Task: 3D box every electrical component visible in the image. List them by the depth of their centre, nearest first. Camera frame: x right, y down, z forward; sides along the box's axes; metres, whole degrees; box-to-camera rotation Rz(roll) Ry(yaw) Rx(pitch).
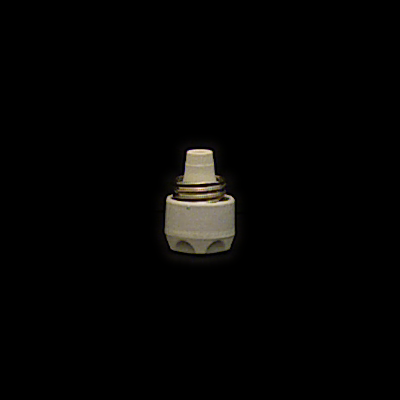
[{"bbox_3d":[0.000,0.000,0.651,0.043,0.062,0.043,0,12,1],"label":"electrical component"}]
